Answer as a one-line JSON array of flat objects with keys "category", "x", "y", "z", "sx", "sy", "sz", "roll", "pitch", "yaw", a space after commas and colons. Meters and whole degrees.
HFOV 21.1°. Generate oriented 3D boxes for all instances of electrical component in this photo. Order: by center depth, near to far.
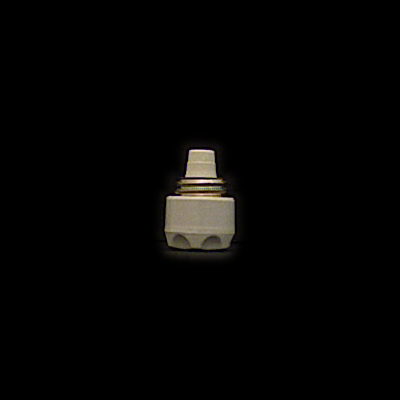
[{"category": "electrical component", "x": 0.000, "y": 0.000, "z": 0.657, "sx": 0.043, "sy": 0.062, "sz": 0.043, "roll": 2, "pitch": 1, "yaw": 0}]
